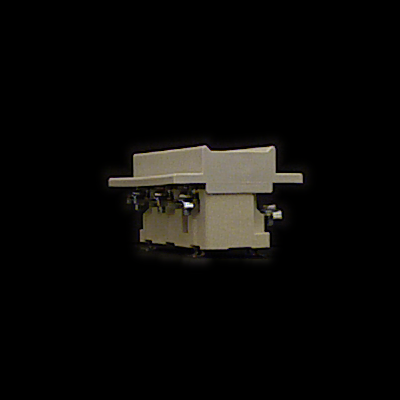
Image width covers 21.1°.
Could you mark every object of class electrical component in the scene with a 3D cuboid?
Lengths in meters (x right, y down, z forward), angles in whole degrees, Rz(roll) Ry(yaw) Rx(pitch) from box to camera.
[{"bbox_3d":[0.000,0.000,0.660,0.079,0.063,0.121,-1,1,-22],"label":"electrical component"}]
